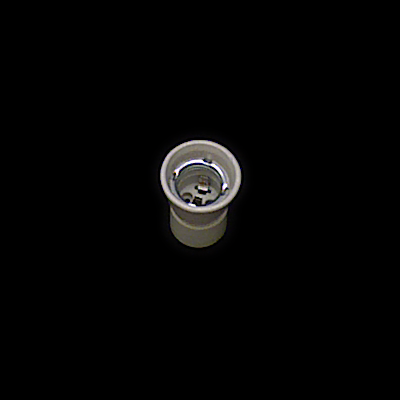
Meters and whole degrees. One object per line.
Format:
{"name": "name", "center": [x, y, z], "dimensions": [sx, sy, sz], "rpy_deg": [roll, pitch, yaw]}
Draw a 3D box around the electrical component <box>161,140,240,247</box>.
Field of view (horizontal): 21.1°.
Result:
{"name": "electrical component", "center": [0.000, 0.000, 0.624], "dimensions": [0.044, 0.044, 0.065], "rpy_deg": [0, -27, -1]}
